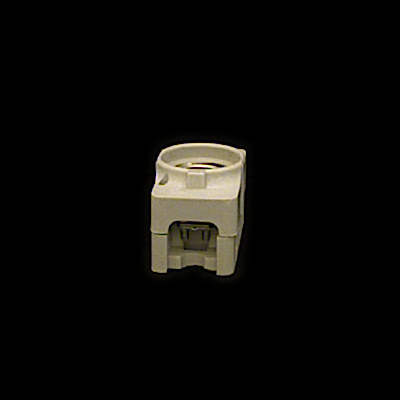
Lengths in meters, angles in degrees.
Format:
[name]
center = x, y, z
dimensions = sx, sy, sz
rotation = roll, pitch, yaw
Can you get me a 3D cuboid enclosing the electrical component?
[electrical component]
center = 0.000, 0.000, 0.646
dimensions = 0.050, 0.056, 0.088
rotation = 3, 21, 4
